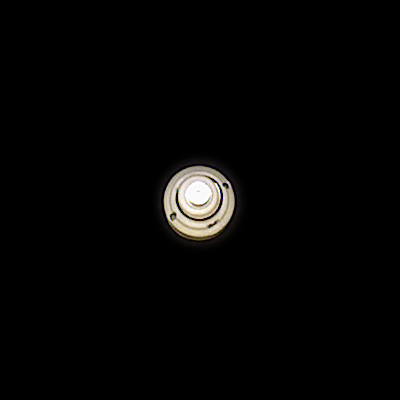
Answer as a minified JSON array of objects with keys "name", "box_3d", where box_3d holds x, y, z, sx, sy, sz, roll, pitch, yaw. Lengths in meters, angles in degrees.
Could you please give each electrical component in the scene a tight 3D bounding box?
[{"name":"electrical component","box_3d":[0.000,0.000,0.618,0.040,0.040,0.078,0,-7,0]}]
